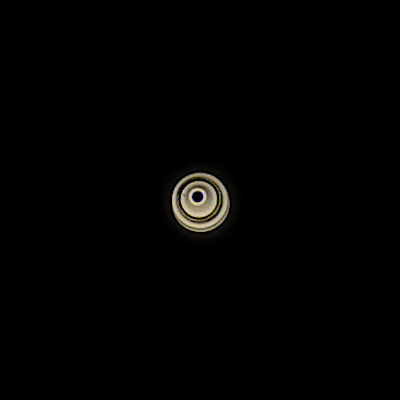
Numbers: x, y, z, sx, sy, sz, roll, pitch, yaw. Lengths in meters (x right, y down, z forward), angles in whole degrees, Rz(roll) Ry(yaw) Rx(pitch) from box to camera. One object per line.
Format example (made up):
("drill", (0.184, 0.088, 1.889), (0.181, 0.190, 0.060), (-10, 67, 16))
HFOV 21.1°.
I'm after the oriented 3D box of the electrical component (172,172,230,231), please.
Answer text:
("electrical component", (0.000, 0.000, 0.637), (0.035, 0.035, 0.061), (0, -5, 2))
